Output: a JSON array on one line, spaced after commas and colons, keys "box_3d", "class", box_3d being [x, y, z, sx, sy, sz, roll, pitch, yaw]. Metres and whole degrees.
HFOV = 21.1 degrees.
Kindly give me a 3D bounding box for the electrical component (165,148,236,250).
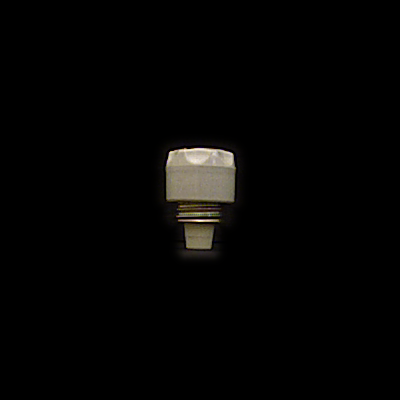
[{"box_3d": [0.000, 0.000, 0.658, 0.043, 0.062, 0.043, 1, 1, 0], "class": "electrical component"}]
